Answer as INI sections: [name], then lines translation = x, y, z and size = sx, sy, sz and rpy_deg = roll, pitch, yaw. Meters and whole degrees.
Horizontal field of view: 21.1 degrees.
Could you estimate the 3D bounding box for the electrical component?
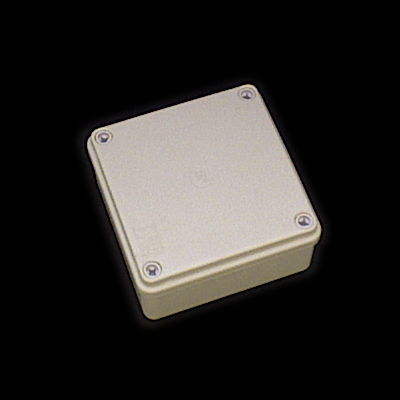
[electrical component]
translation = 0.000, 0.000, 0.630
size = 0.109, 0.108, 0.056
rpy_deg = -17, -26, -10
